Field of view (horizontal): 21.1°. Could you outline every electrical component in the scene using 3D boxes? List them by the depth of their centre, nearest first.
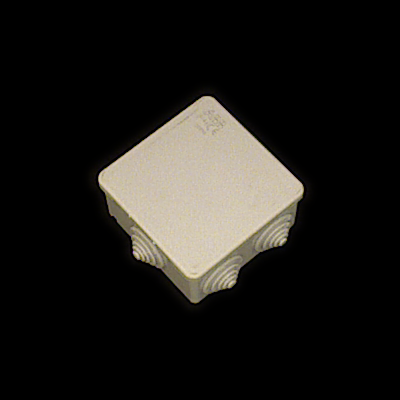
[{"bbox_3d":[0.000,0.000,0.640,0.100,0.099,0.048,-38,-21,-17],"label":"electrical component"}]
